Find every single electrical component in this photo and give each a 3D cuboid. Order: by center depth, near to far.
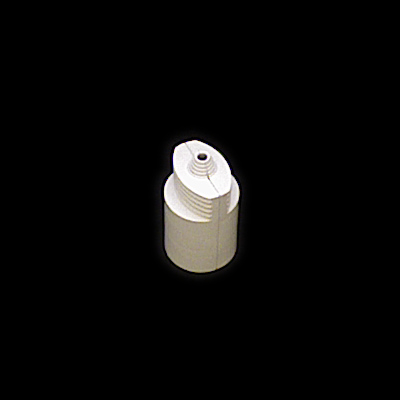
[{"bbox_3d":[0.000,0.000,0.619,0.043,0.043,0.081,0,-38,0],"label":"electrical component"}]
